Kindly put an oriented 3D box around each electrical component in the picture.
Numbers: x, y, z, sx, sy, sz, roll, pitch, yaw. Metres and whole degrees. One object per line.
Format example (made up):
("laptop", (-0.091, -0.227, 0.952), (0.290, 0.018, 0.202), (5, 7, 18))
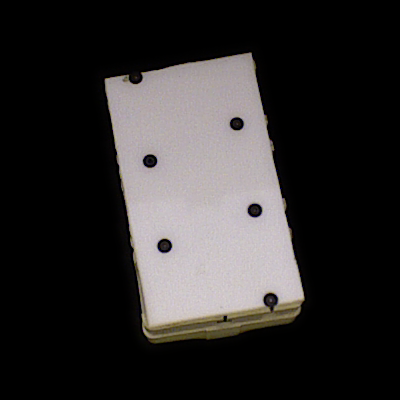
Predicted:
("electrical component", (0.000, 0.000, 0.629), (0.089, 0.150, 0.062), (-10, -16, -2))
